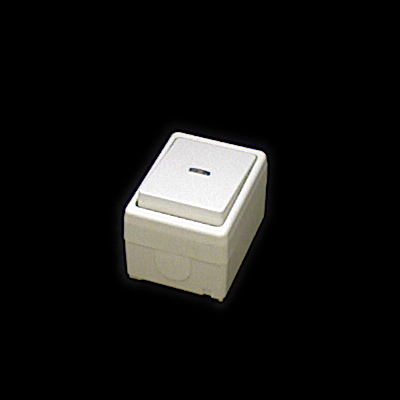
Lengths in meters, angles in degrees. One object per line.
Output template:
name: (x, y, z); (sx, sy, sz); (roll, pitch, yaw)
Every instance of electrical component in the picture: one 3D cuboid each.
electrical component: (0.000, 0.000, 0.632); (0.061, 0.061, 0.095); (14, 43, 14)
